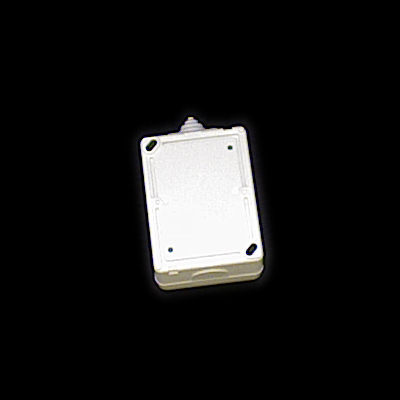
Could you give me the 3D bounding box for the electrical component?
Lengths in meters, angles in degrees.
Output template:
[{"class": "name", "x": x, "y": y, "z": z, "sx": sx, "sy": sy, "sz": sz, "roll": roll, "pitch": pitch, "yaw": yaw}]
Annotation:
[{"class": "electrical component", "x": 0.000, "y": 0.000, "z": 0.628, "sx": 0.062, "sy": 0.096, "sz": 0.061, "roll": -7, "pitch": -17, "yaw": -1}]
